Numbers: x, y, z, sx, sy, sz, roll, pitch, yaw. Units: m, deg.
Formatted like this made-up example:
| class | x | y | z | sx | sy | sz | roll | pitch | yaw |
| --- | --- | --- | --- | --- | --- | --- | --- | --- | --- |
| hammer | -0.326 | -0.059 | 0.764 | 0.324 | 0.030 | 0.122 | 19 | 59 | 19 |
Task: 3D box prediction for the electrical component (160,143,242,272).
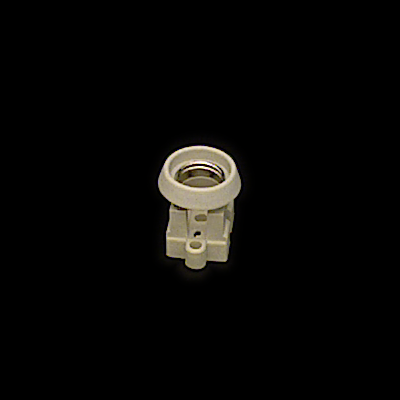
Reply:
| class | x | y | z | sx | sy | sz | roll | pitch | yaw |
| --- | --- | --- | --- | --- | --- | --- | --- | --- | --- |
| electrical component | 0.000 | 0.000 | 0.640 | 0.048 | 0.056 | 0.066 | 6 | 43 | 3 |
